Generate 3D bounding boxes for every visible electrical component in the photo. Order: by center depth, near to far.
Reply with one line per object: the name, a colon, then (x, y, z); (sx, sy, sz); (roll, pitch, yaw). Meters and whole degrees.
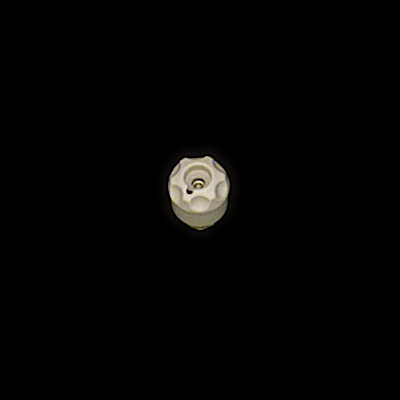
electrical component: (0.000, 0.000, 0.633); (0.035, 0.035, 0.061); (0, -27, 1)
